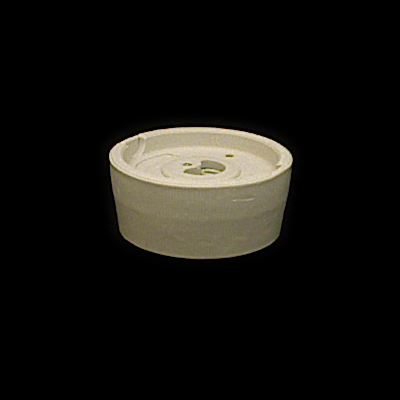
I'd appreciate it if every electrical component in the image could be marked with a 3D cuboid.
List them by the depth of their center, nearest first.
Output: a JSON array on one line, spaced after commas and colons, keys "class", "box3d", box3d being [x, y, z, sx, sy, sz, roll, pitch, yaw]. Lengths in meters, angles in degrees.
[{"class": "electrical component", "box3d": [0.000, 0.000, 0.645, 0.108, 0.061, 0.106, 2, 22, 0]}]
